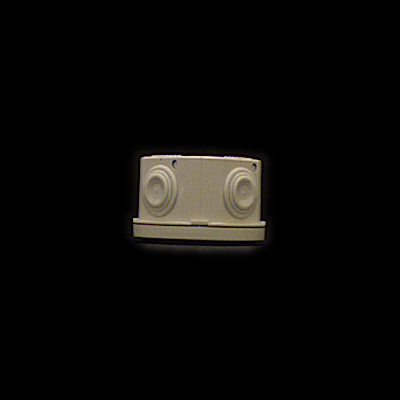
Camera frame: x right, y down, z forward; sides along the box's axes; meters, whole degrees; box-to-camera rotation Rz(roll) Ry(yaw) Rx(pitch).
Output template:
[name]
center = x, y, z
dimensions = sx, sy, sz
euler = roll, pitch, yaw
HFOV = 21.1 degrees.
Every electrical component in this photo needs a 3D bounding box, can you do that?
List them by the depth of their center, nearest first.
[electrical component]
center = 0.000, 0.000, 0.651
dimensions = 0.080, 0.051, 0.080
euler = 2, 0, 0
